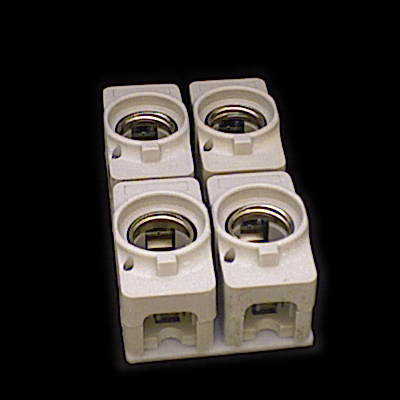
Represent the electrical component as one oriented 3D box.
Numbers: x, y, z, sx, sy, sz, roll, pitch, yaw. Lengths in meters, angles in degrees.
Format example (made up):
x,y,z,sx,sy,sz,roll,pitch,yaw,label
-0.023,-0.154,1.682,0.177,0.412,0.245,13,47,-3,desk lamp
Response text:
x,y,z,sx,sy,sz,roll,pitch,yaw,label
0.000,0.000,0.630,0.105,0.061,0.184,-4,43,-6,electrical component
